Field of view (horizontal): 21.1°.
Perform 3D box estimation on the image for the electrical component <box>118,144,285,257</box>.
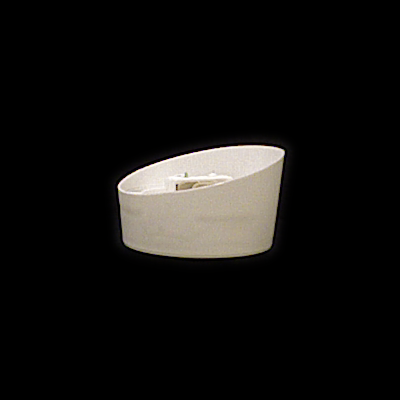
[{"bbox_3d":[0.000,0.000,0.645,0.099,0.064,0.098,2,9,0],"label":"electrical component"}]
